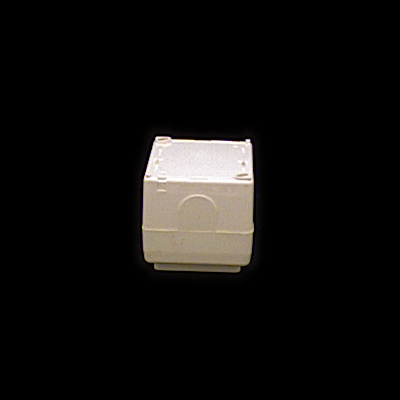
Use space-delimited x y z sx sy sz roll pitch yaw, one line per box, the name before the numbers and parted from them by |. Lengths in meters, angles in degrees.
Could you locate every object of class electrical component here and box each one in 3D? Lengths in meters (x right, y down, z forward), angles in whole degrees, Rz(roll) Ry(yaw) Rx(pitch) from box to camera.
electrical component | 0.000 0.000 0.641 0.062 0.061 0.095 2 20 1
